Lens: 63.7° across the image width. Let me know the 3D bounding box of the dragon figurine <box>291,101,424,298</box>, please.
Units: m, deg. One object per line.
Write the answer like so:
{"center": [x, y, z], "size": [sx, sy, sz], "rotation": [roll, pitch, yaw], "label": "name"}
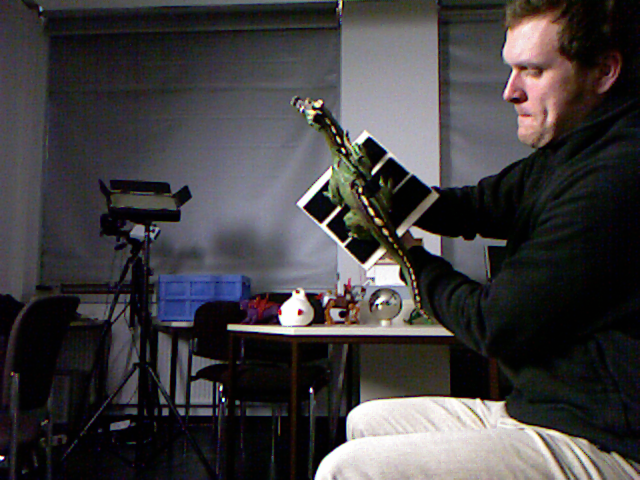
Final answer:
{"center": [0.080, -0.077, 0.904], "size": [0.123, 0.415, 0.243], "rotation": [-35, -9, 3], "label": "dragon figurine"}
